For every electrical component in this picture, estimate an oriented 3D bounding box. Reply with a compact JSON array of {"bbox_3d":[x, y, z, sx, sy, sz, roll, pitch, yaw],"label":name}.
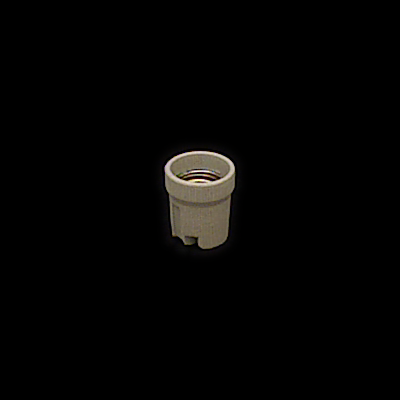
[{"bbox_3d":[0.000,0.000,0.635,0.040,0.047,0.039,1,32,0],"label":"electrical component"}]
